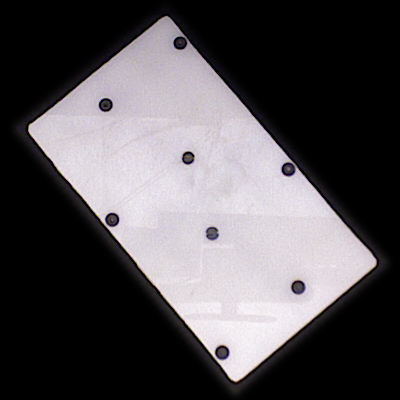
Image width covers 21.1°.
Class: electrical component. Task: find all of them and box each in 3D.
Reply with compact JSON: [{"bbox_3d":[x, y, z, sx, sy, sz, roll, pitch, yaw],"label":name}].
[{"bbox_3d":[0.000,0.000,0.626,0.106,0.186,0.060,-40,-5,-4],"label":"electrical component"}]
